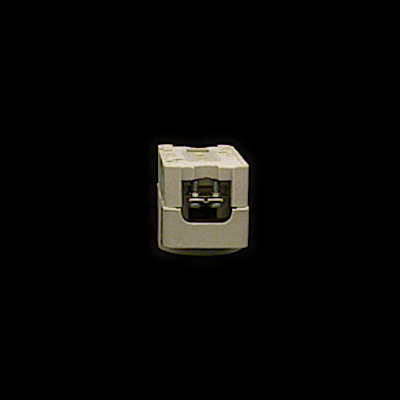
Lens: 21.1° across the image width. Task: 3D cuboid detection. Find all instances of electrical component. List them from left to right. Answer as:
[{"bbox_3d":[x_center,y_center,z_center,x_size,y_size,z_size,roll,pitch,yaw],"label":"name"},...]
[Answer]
[{"bbox_3d":[0.000,0.000,0.651,0.050,0.056,0.088,-1,11,-5],"label":"electrical component"}]
